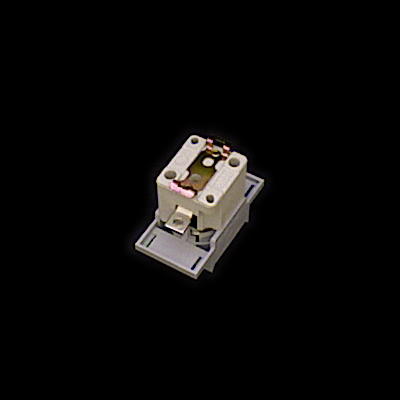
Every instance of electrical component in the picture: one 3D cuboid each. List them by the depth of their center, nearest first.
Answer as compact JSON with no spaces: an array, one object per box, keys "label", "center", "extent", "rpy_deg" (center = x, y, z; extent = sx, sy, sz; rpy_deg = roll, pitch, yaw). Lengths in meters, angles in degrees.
[{"label":"electrical component","center":[0.000,0.000,0.628],"extent":[0.042,0.081,0.064],"rpy_deg":[25,-34,18]}]
